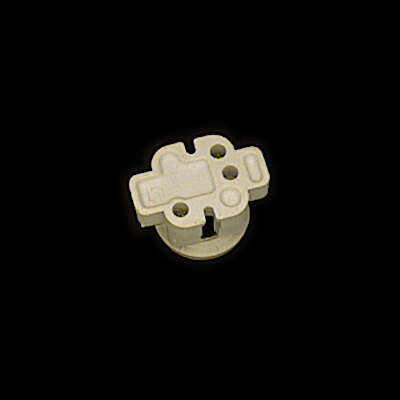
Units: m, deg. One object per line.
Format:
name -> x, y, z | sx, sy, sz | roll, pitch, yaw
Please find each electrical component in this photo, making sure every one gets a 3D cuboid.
electrical component -> 0.000, 0.000, 0.635 | 0.079, 0.058, 0.056 | -15, -25, -6
